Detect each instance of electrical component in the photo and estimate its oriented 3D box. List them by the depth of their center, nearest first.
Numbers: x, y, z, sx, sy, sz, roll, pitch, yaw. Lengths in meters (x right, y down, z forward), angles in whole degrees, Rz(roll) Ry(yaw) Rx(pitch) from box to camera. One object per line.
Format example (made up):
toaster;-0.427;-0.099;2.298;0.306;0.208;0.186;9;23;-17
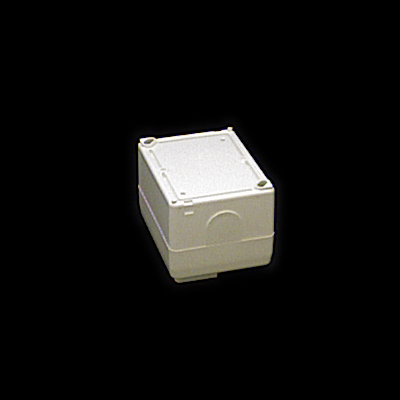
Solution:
electrical component;0.000;0.000;0.640;0.062;0.062;0.094;-9;33;-14
